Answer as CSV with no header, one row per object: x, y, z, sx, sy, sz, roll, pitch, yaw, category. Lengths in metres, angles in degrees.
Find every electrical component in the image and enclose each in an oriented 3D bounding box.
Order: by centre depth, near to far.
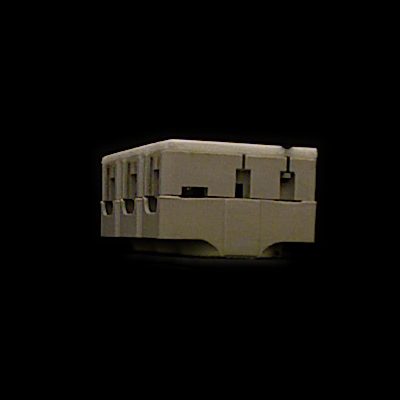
0.000,0.000,0.655,0.089,0.062,0.150,1,0,-18,electrical component
